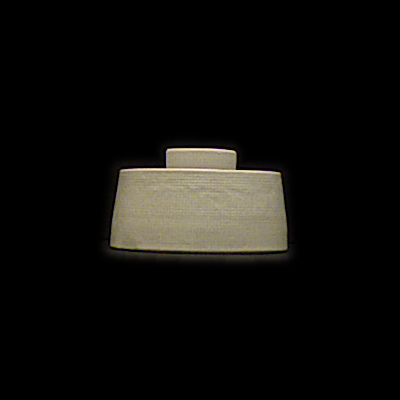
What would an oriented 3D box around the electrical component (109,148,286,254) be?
[{"bbox_3d":[-0.001,0.000,0.655,0.108,0.060,0.108,2,1,1],"label":"electrical component"}]
